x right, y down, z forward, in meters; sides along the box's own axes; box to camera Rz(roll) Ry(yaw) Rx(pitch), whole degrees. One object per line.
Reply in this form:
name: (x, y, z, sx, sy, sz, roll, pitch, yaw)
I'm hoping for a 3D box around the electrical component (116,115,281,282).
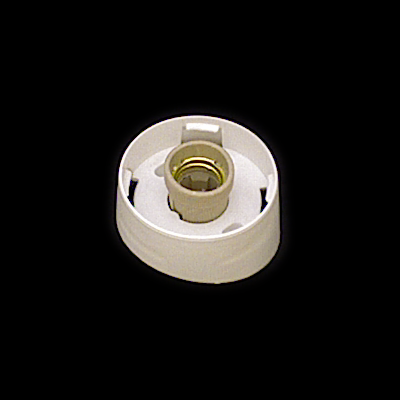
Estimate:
electrical component: (0.000, 0.000, 0.626, 0.099, 0.098, 0.064, 0, -38, -1)
